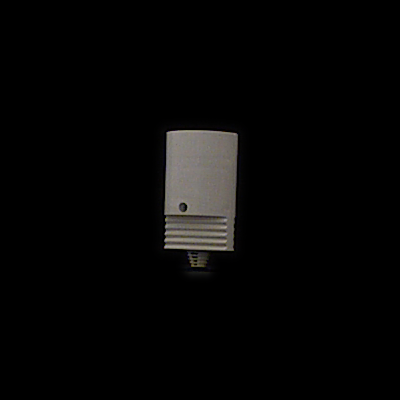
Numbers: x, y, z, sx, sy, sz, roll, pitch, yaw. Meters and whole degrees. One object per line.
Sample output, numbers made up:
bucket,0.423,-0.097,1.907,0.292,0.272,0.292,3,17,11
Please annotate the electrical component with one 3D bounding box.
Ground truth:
electrical component,0.000,0.000,0.651,0.043,0.081,0.043,2,2,0
